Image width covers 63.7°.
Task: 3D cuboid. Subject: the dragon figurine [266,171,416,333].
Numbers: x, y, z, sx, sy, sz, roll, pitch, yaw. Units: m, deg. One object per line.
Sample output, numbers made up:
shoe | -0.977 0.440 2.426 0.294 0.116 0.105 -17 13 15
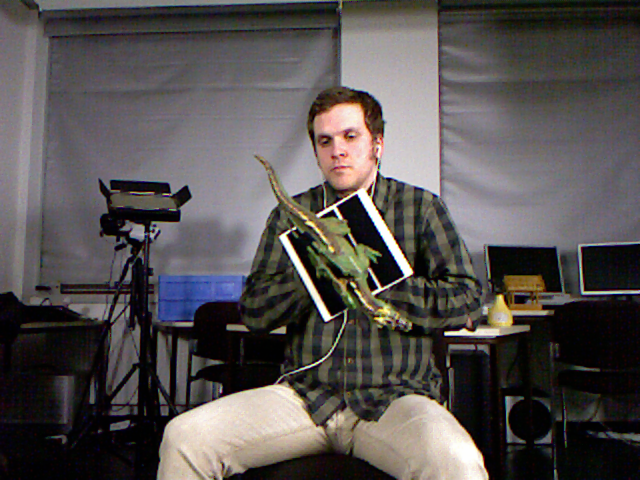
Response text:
dragon figurine | 0.012 0.014 0.929 0.122 0.414 0.243 -45 -7 2
